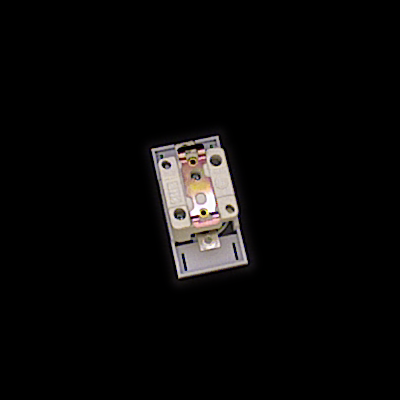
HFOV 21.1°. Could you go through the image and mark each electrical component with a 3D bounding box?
[{"bbox_3d":[0.000,0.000,0.625,0.042,0.081,0.063,-12,-17,-4],"label":"electrical component"}]
